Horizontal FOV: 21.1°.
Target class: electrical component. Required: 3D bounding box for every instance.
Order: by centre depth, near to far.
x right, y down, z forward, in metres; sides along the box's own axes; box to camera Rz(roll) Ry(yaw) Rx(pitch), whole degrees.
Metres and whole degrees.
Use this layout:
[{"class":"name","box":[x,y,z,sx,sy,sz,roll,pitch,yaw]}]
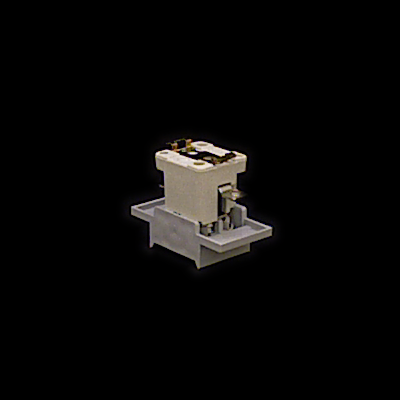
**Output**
[{"class":"electrical component","box":[0.000,0.000,0.638,0.042,0.064,0.080,-18,28,-40]}]
